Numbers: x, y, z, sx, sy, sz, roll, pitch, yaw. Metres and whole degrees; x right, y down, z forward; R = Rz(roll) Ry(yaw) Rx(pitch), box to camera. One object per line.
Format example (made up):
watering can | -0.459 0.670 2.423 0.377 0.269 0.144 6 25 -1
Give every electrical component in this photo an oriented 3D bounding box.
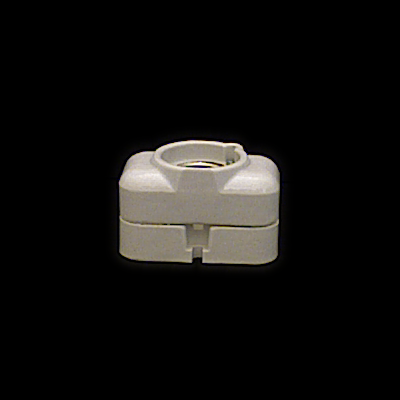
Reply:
electrical component | 0.000 0.000 0.647 0.095 0.060 0.053 2 22 1
